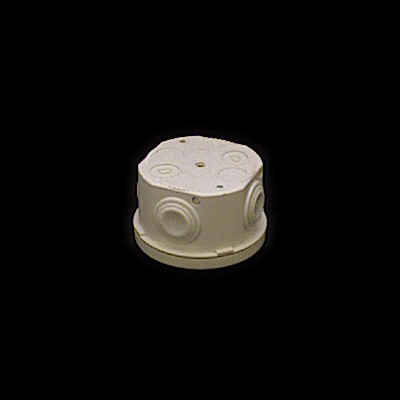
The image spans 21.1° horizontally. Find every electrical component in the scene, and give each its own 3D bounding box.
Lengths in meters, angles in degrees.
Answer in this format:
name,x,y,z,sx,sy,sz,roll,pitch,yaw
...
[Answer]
name,x,y,z,sx,sy,sz,roll,pitch,yaw
electrical component,0.000,0.000,0.638,0.080,0.051,0.079,1,31,0
